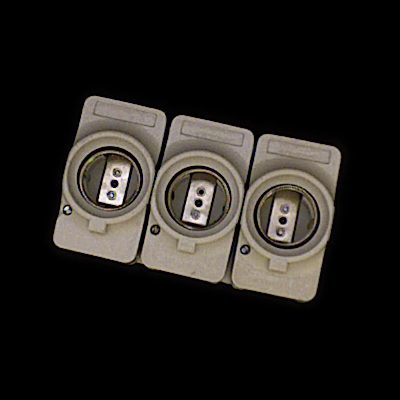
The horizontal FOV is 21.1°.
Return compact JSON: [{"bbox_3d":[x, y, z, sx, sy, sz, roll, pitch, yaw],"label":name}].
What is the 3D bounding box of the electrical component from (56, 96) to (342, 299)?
[{"bbox_3d":[0.000,0.000,0.632,0.150,0.089,0.061,12,-5,2],"label":"electrical component"}]
